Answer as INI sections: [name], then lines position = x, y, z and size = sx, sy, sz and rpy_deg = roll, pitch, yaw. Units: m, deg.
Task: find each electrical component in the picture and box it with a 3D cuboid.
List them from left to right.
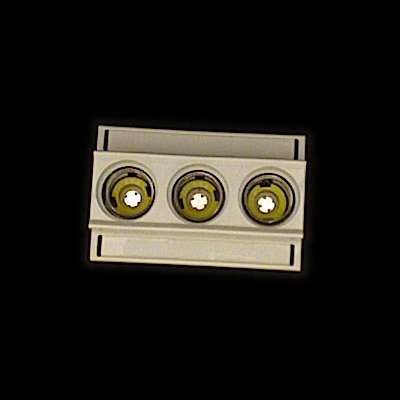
[electrical component]
position = 0.000, 0.000, 0.638
size = 0.121, 0.079, 0.063
rpy_deg = 3, -7, 1
